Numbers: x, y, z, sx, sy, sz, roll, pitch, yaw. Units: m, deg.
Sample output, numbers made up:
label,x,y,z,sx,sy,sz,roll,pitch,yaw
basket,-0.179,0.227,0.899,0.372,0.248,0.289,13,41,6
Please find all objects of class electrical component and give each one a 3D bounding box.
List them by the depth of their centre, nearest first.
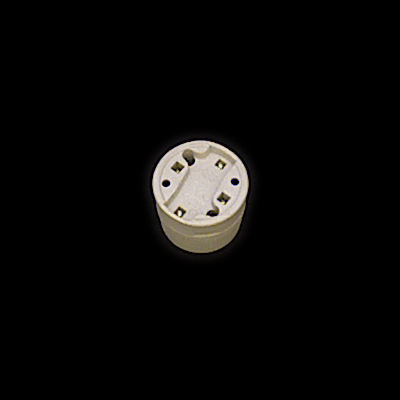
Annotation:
label,x,y,z,sx,sy,sz,roll,pitch,yaw
electrical component,0.000,0.000,0.633,0.055,0.056,0.047,0,-27,0
